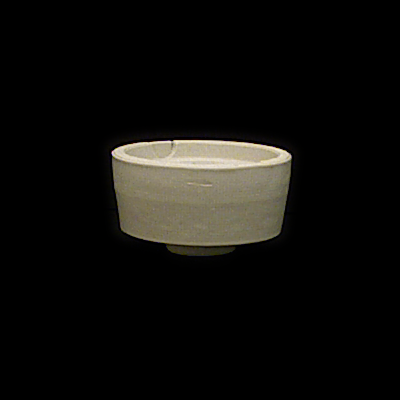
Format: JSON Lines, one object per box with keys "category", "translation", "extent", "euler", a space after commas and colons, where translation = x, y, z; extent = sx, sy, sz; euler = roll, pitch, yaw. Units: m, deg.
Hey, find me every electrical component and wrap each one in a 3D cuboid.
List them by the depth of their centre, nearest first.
{"category": "electrical component", "translation": [0.000, 0.000, 0.652], "extent": [0.108, 0.061, 0.107], "euler": [2, 11, 0]}
